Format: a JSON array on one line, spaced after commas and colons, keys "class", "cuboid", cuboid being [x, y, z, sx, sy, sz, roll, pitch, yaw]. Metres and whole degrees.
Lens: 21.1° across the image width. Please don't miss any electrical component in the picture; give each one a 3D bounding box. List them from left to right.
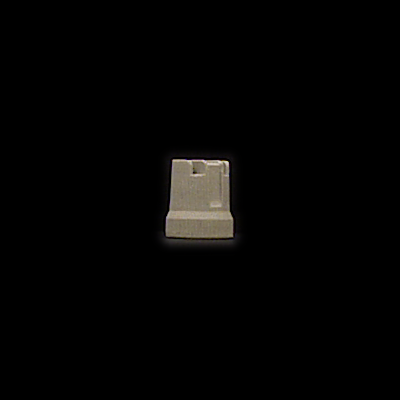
[{"class": "electrical component", "cuboid": [0.000, 0.000, 0.648, 0.040, 0.046, 0.040, 1, 1, 0]}]
